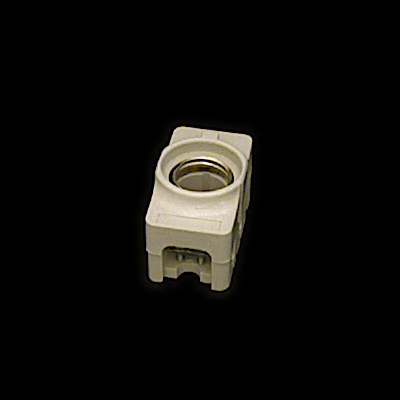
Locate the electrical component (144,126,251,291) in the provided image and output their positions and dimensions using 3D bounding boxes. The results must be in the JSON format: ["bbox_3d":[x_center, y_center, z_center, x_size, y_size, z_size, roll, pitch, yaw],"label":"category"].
[{"bbox_3d":[0.000,0.000,0.639,0.050,0.056,0.089,7,43,7],"label":"electrical component"}]
